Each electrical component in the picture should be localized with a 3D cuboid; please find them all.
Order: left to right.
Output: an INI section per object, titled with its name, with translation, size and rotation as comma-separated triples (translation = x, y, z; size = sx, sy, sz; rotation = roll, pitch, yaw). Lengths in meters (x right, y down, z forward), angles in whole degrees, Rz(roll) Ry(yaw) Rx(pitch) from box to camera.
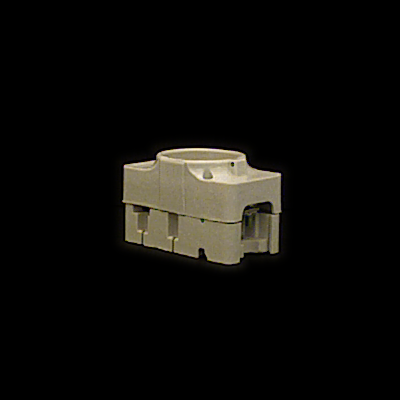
[electrical component]
translation = 0.000, 0.000, 0.651
size = 0.088, 0.056, 0.050
rotation = 11, 15, 40
